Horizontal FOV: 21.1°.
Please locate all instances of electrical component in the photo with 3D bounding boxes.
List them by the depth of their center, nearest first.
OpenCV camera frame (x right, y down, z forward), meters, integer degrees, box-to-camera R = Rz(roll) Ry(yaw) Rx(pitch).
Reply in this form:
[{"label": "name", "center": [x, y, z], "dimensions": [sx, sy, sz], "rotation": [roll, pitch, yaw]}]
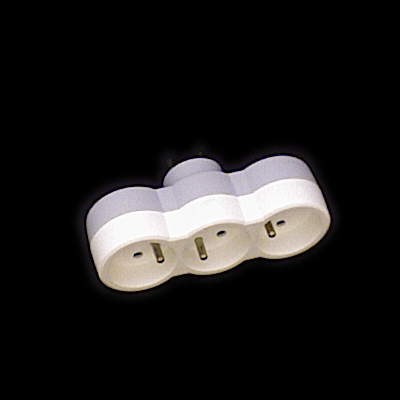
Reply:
[{"label": "electrical component", "center": [0.000, 0.000, 0.631], "dimensions": [0.138, 0.073, 0.052], "rotation": [-13, -38, -9]}]
